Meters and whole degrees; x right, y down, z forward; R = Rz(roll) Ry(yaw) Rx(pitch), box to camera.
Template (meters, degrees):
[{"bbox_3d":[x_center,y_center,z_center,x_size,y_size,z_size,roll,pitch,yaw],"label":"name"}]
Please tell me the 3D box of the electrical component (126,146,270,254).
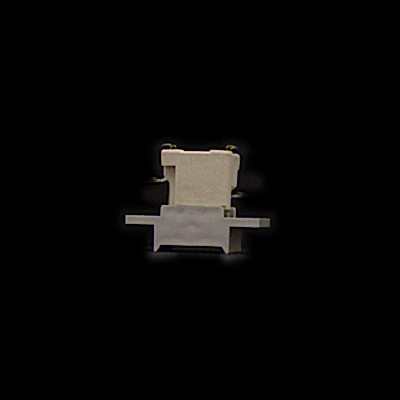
[{"bbox_3d":[0.000,0.000,0.650,0.081,0.064,0.042,1,1,11],"label":"electrical component"}]
